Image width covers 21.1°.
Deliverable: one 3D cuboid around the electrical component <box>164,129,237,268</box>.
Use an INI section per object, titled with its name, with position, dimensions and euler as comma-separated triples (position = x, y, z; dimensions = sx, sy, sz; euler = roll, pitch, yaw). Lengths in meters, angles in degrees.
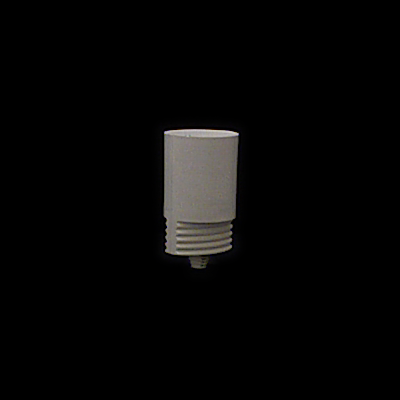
[electrical component]
position = 0.000, 0.000, 0.639
dimensions = 0.043, 0.082, 0.043
euler = 0, 11, 0
